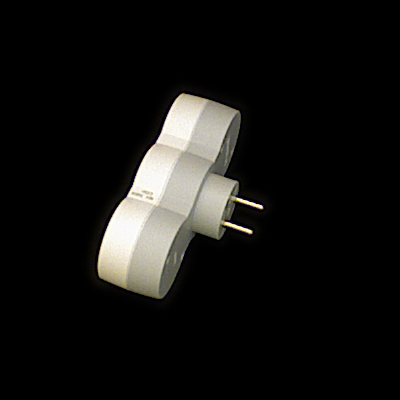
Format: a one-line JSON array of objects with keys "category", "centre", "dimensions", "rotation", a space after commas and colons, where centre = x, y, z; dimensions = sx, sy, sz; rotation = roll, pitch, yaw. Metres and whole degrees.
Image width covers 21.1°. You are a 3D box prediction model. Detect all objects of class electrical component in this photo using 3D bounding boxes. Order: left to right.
[{"category": "electrical component", "centre": [0.000, 0.000, 0.637], "dimensions": [0.073, 0.138, 0.052], "rotation": [18, -35, 11]}]
